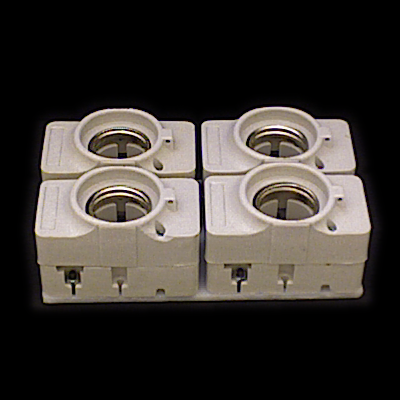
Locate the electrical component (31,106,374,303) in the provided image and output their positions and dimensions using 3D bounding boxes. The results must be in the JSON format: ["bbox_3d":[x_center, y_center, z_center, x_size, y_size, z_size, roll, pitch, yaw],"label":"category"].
[{"bbox_3d":[0.000,0.000,0.631,0.186,0.061,0.104,-1,42,-2],"label":"electrical component"}]
